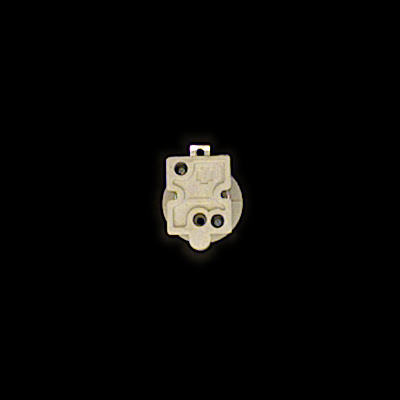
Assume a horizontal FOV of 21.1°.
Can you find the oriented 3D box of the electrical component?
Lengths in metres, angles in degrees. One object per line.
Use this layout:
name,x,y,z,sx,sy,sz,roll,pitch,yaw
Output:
electrical component,0.000,0.000,0.639,0.048,0.066,0.055,-1,-7,2
